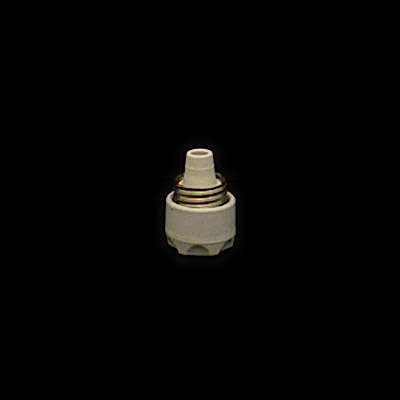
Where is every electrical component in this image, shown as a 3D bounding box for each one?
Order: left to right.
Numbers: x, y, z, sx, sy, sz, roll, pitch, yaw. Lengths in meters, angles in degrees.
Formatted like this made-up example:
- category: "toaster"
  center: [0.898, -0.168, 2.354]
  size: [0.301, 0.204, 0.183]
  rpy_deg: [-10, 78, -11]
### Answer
- category: "electrical component"
  center: [0.000, 0.000, 0.646]
  size: [0.043, 0.063, 0.043]
  rpy_deg: [0, 22, 1]
